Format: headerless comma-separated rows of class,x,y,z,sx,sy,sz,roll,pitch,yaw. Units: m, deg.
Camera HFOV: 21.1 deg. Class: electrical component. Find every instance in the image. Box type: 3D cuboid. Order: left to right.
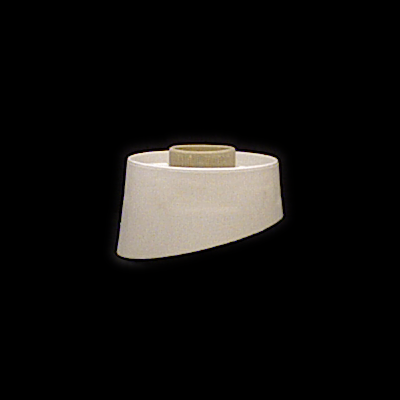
electrical component,0.000,0.000,0.645,0.099,0.064,0.098,1,10,0
